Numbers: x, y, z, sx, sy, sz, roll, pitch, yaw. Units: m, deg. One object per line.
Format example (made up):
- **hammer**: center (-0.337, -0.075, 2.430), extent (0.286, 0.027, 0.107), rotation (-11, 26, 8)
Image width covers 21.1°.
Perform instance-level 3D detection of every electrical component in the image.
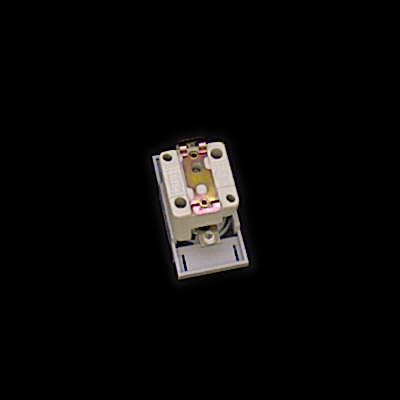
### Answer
- **electrical component**: center (0.000, 0.000, 0.625), extent (0.042, 0.081, 0.063), rotation (-11, -27, -6)
